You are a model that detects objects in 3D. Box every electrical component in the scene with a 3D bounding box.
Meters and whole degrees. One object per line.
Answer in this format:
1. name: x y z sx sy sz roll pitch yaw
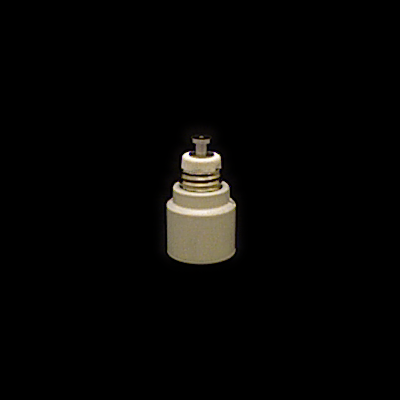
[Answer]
1. electrical component: 0.000 0.000 0.635 0.040 0.079 0.039 0 22 0
